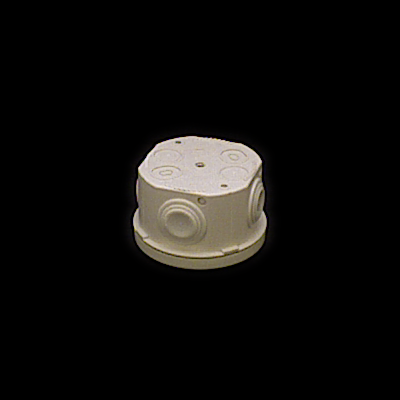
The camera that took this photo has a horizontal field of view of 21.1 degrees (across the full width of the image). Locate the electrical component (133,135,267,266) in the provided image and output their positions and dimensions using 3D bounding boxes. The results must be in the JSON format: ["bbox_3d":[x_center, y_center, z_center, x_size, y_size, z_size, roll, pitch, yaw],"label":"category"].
[{"bbox_3d":[0.000,0.000,0.638,0.080,0.051,0.079,1,31,0],"label":"electrical component"}]
